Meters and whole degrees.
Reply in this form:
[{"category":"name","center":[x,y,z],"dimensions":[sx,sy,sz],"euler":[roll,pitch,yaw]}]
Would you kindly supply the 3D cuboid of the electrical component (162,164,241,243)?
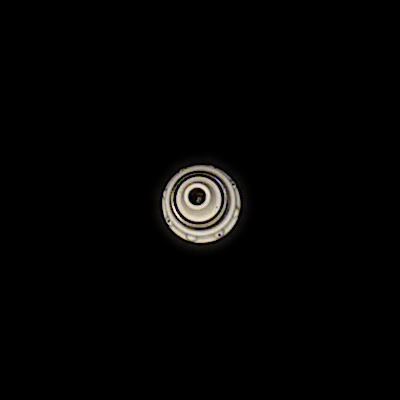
[{"category":"electrical component","center":[0.000,0.000,0.634],"dimensions":[0.048,0.048,0.062],"euler":[0,-6,2]}]
